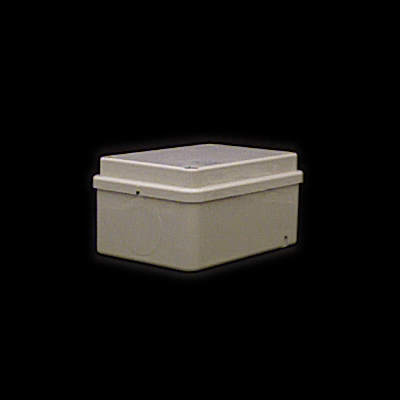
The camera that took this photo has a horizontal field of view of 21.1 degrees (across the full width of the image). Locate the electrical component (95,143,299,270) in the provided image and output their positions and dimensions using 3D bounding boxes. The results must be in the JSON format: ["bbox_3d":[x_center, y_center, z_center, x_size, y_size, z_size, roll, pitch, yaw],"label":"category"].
[{"bbox_3d":[0.000,0.000,0.643,0.078,0.057,0.113,9,13,37],"label":"electrical component"}]
